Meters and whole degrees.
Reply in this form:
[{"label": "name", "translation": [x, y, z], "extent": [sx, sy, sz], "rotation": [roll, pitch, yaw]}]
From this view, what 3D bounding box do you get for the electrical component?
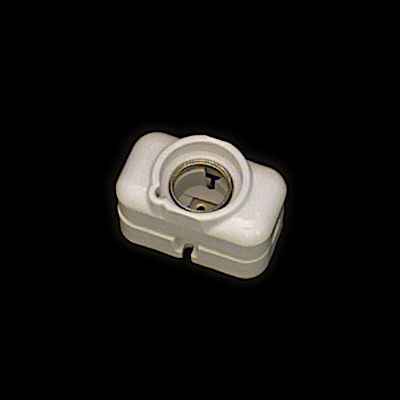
[{"label": "electrical component", "translation": [0.000, 0.000, 0.633], "extent": [0.095, 0.054, 0.059], "rotation": [18, -25, 9]}]
